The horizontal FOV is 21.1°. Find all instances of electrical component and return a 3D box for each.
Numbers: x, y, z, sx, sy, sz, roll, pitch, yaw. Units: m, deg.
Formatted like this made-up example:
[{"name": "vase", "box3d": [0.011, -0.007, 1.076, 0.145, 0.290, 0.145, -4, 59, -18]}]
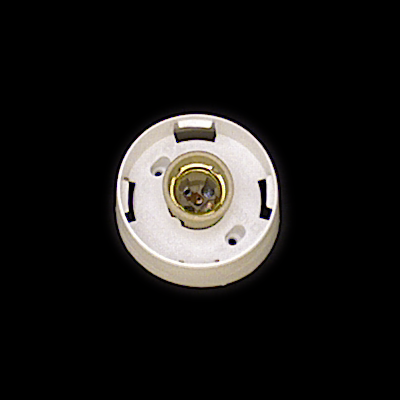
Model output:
[{"name": "electrical component", "box3d": [0.000, 0.000, 0.624, 0.099, 0.099, 0.063, 0, -17, -1]}]
